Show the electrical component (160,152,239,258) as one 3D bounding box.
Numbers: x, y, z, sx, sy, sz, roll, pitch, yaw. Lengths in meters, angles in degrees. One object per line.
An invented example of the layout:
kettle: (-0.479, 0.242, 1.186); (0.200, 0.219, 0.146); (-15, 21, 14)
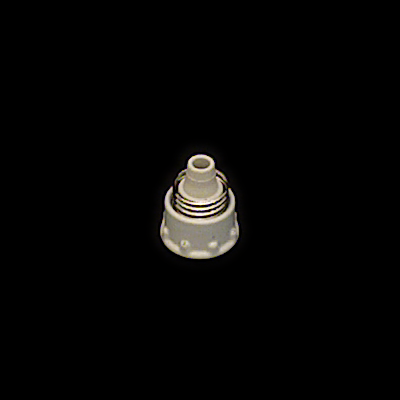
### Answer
electrical component: (0.000, 0.000, 0.637); (0.048, 0.062, 0.047); (1, 44, 0)
